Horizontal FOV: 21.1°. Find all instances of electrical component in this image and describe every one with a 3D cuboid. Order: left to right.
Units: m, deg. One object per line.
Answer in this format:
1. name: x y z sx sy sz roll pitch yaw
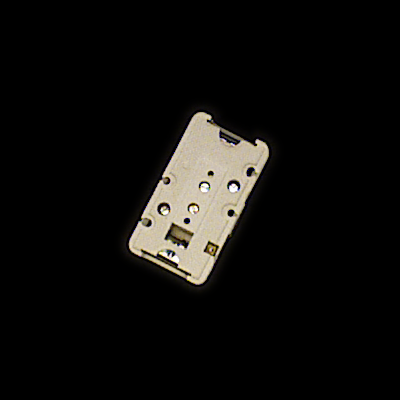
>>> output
1. electrical component: 0.000 0.000 0.637 0.050 0.090 0.055 27 -5 2
